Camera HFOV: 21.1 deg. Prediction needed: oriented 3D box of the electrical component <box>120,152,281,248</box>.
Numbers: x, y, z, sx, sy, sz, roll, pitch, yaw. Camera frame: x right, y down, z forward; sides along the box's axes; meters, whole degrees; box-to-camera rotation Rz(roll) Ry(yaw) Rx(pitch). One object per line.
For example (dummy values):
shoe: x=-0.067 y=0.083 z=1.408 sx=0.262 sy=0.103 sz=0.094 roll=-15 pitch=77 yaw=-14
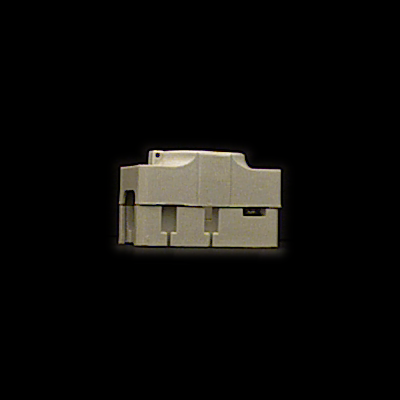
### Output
electrical component: x=0.000 y=0.000 z=0.657 sx=0.090 sy=0.056 sz=0.050 roll=1 pitch=1 yaw=-21
